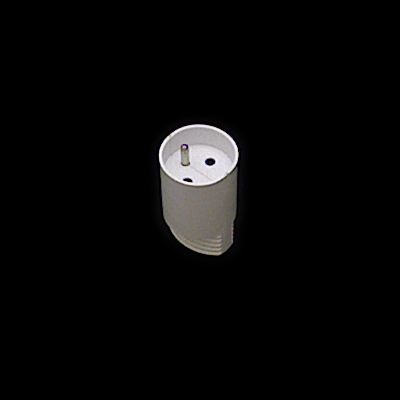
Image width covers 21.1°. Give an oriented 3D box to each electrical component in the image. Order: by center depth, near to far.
[{"bbox_3d":[0.000,0.000,0.618,0.043,0.043,0.081,0,-39,0],"label":"electrical component"}]
